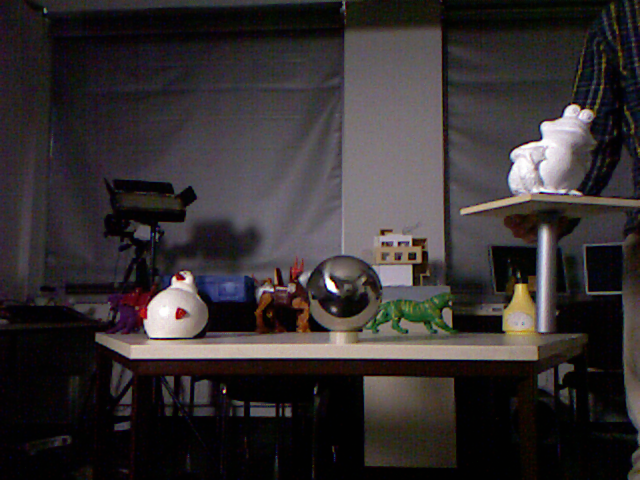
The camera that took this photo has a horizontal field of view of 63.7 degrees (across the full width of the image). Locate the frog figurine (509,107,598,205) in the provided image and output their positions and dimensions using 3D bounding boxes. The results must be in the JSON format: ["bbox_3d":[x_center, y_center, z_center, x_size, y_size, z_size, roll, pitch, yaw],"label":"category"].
[{"bbox_3d":[0.385,-0.139,0.853,0.137,0.159,0.123,3,3,-5],"label":"frog figurine"}]
